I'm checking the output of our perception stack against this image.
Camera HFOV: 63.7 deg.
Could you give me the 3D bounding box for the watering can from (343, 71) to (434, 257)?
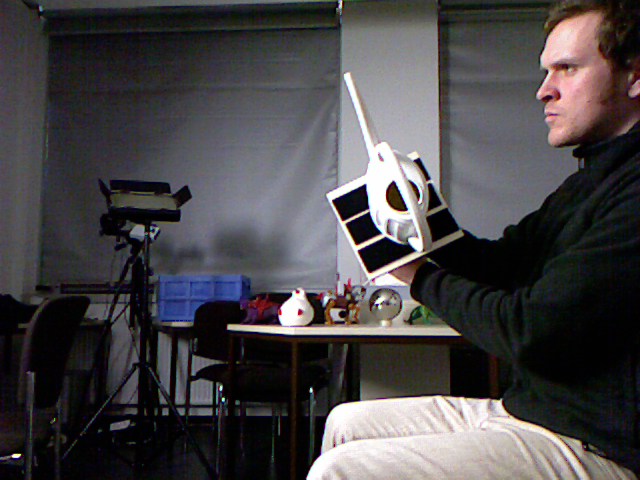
[{"bbox_3d":[0.123,-0.126,0.959,0.105,0.353,0.223,-21,-13,-3],"label":"watering can"}]
